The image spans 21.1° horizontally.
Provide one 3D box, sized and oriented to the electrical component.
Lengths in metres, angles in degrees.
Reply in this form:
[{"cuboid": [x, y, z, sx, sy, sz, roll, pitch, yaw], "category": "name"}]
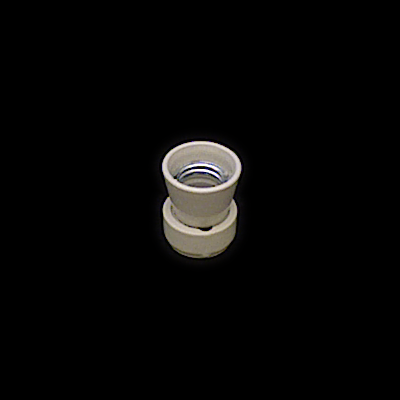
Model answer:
[{"cuboid": [0.000, 0.000, 0.633, 0.045, 0.056, 0.044, 1, 42, -1], "category": "electrical component"}]
